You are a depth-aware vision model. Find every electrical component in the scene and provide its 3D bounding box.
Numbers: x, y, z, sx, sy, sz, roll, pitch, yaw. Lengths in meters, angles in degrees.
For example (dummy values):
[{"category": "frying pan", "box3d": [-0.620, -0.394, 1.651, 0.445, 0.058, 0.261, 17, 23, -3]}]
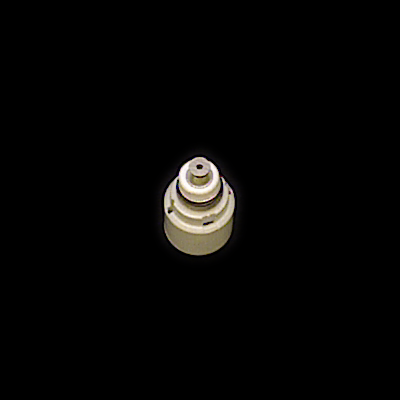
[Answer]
[{"category": "electrical component", "box3d": [0.000, 0.000, 0.618, 0.040, 0.040, 0.078, 0, -28, -1]}]
